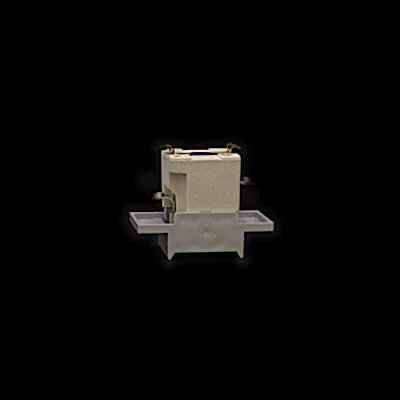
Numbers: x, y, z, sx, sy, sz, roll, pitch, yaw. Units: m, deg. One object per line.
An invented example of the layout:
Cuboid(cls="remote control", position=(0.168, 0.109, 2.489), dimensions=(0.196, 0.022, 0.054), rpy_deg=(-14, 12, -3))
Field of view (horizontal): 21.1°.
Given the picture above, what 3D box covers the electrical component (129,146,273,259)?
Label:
Cuboid(cls="electrical component", position=(0.000, 0.000, 0.643), dimensions=(0.081, 0.064, 0.042), rpy_deg=(-1, 11, -11))
